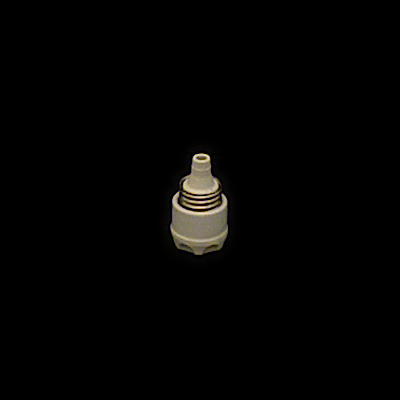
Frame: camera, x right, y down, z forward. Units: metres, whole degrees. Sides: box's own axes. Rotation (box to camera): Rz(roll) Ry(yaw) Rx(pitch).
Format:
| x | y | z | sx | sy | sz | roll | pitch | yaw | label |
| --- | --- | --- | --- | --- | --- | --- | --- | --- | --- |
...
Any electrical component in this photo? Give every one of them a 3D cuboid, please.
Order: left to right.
| x | y | z | sx | sy | sz | roll | pitch | yaw | label |
| --- | --- | --- | --- | --- | --- | --- | --- | --- | --- |
| 0.000 | 0.000 | 0.647 | 0.035 | 0.062 | 0.034 | 2 | 32 | -1 | electrical component |
